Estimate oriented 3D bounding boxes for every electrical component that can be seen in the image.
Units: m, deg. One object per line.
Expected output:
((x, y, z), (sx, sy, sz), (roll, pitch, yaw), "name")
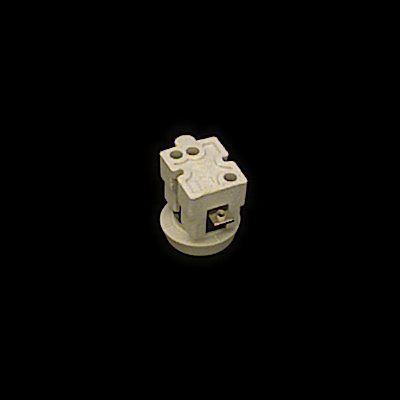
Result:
((0.000, 0.000, 0.640), (0.049, 0.056, 0.065), (-17, 46, -19), "electrical component")
